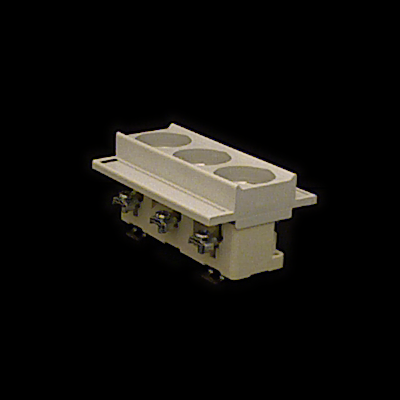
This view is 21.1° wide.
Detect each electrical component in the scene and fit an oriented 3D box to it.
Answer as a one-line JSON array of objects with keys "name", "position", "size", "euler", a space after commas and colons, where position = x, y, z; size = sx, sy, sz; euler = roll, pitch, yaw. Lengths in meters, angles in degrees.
[{"name": "electrical component", "position": [0.000, 0.000, 0.653], "size": [0.078, 0.064, 0.120], "euler": [-13, 25, -35]}]
